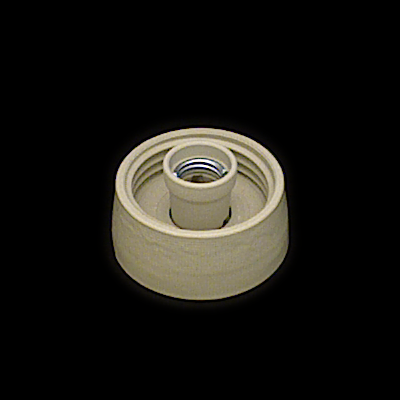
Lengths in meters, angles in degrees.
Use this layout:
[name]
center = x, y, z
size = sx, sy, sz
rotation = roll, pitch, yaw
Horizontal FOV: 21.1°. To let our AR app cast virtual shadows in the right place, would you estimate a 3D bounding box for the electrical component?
[electrical component]
center = 0.000, 0.000, 0.637
size = 0.108, 0.061, 0.107
rotation = 1, 43, 0
